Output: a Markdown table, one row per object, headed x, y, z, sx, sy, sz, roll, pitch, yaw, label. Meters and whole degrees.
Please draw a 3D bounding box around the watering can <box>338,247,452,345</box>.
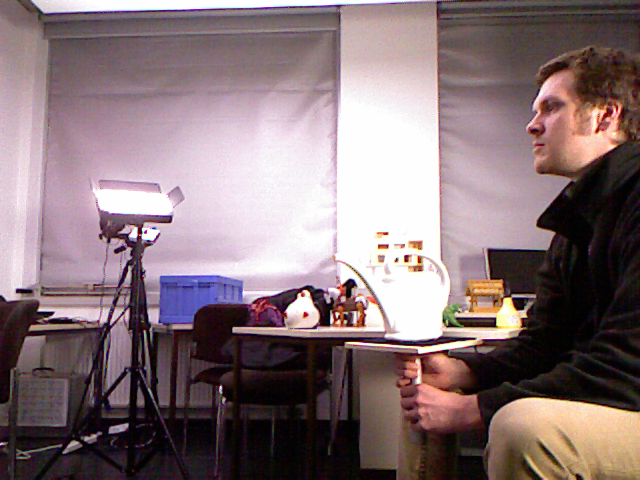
| x | y | z | sx | sy | sz | roll | pitch | yaw | label |
| --- | --- | --- | --- | --- | --- | --- | --- | --- | --- |
| 0.165 | 0.127 | 1.079 | 0.348 | 0.225 | 0.103 | 3 | -5 | -39 | watering can |
